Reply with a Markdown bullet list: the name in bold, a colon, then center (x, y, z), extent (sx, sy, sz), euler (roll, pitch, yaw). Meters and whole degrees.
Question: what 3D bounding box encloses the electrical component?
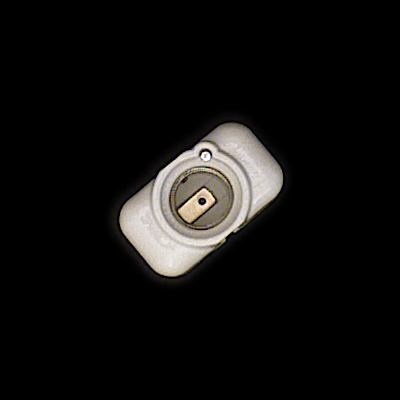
- **electrical component**: center (0.000, 0.000, 0.635), extent (0.095, 0.054, 0.059), euler (-40, -4, -3)
